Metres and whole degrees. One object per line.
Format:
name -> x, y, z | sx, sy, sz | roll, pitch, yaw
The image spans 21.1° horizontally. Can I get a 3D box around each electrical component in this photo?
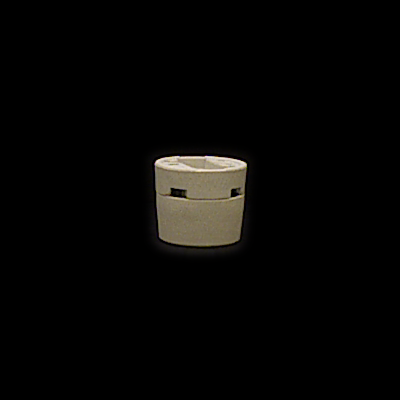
electrical component -> 0.000, 0.000, 0.645 | 0.055, 0.047, 0.055 | 1, 11, 0
